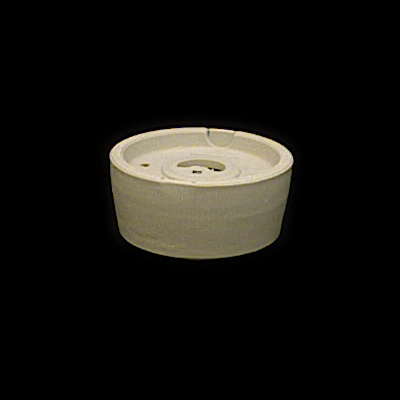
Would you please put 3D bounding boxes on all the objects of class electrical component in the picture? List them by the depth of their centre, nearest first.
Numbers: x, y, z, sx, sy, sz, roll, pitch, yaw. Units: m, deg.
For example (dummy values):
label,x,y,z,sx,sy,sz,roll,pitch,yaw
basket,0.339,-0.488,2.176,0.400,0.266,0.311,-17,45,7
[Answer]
label,x,y,z,sx,sy,sz,roll,pitch,yaw
electrical component,0.000,0.000,0.642,0.108,0.061,0.106,1,21,0
